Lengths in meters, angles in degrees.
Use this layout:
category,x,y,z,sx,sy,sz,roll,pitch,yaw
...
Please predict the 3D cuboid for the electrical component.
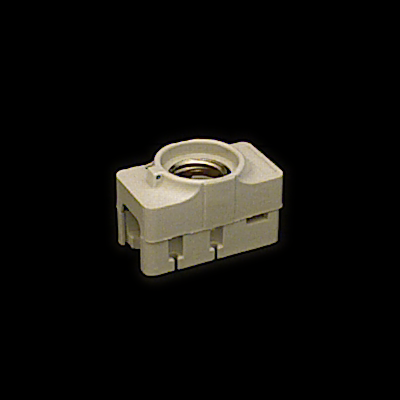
category,x,y,z,sx,sy,sz,roll,pitch,yaw
electrical component,0.000,0.000,0.643,0.090,0.056,0.049,-15,35,-24
